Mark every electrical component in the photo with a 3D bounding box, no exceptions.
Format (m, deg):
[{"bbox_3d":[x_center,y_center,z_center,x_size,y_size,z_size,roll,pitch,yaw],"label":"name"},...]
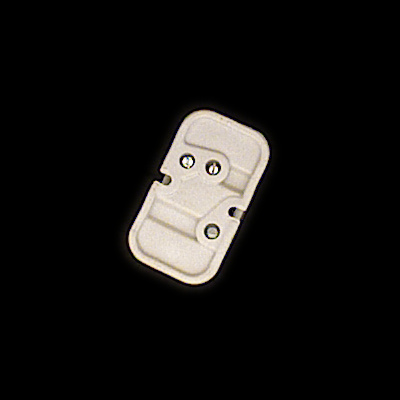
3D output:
[{"bbox_3d":[0.000,0.000,0.636,0.053,0.095,0.059,25,-5,3],"label":"electrical component"}]
